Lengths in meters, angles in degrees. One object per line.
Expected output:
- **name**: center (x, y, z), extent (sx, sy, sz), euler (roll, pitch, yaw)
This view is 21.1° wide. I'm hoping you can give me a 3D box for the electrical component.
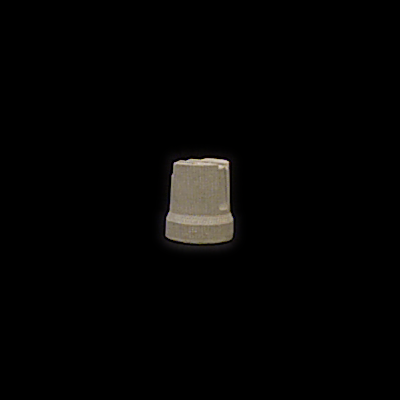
- **electrical component**: center (0.000, 0.000, 0.647), extent (0.040, 0.046, 0.040), euler (2, 11, 0)
